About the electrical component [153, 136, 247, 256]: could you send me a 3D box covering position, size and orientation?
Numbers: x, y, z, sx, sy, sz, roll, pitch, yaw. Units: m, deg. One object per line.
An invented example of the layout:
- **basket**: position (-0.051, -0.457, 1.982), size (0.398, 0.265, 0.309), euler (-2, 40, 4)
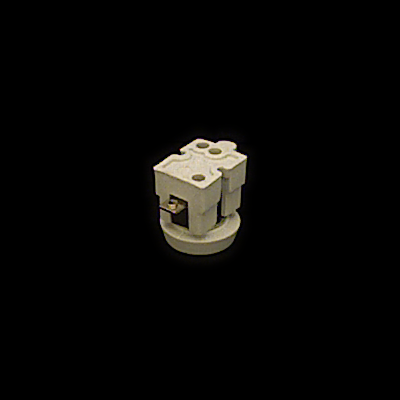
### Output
- **electrical component**: position (0.000, 0.000, 0.644), size (0.048, 0.056, 0.066), euler (24, 40, 29)
